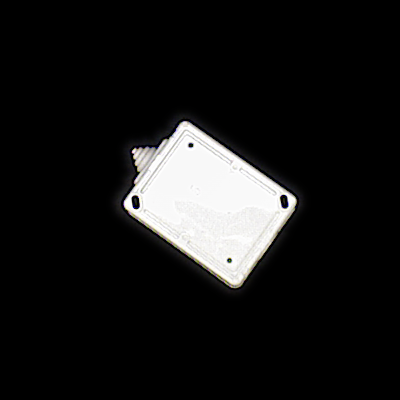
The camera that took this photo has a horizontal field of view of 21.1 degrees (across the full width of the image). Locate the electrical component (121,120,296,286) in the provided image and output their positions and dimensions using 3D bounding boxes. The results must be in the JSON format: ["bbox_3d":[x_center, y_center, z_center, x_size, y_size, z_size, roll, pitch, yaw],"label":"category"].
[{"bbox_3d":[0.000,0.000,0.627,0.096,0.062,0.061,35,-4,4],"label":"electrical component"}]
